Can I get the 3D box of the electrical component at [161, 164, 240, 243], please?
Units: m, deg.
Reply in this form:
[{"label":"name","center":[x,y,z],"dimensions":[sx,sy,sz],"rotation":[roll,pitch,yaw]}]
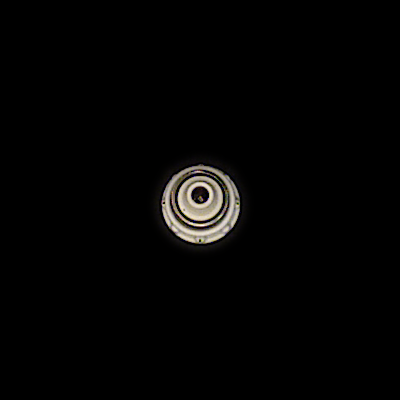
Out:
[{"label":"electrical component","center":[0.000,0.000,0.635],"dimensions":[0.048,0.048,0.061],"rotation":[0,-6,0]}]
